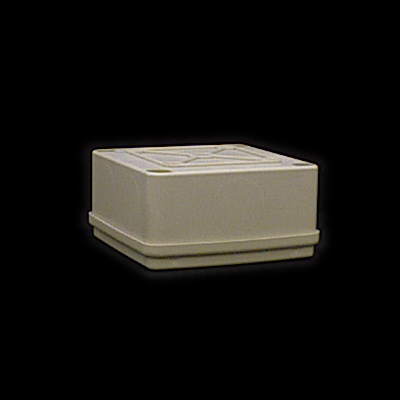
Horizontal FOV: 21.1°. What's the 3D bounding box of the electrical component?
[{"bbox_3d":[0.000,0.000,0.641,0.109,0.056,0.107,-4,12,-24],"label":"electrical component"}]
